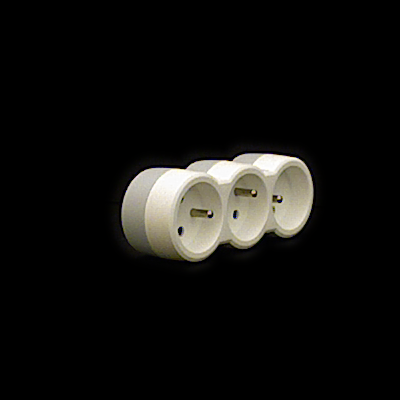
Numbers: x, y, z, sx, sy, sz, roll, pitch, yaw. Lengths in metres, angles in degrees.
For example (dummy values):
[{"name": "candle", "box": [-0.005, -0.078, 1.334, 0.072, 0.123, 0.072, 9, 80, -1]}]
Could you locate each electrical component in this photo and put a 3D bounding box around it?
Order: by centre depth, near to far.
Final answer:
[{"name": "electrical component", "box": [0.000, 0.000, 0.655, 0.072, 0.052, 0.139, 9, 13, 40]}]
